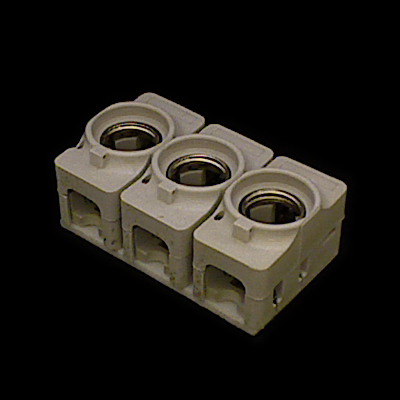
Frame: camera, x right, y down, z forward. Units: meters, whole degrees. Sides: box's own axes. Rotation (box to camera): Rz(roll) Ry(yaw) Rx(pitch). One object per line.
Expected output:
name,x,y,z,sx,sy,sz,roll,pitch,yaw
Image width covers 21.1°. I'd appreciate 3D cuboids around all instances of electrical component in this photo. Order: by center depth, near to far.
electrical component,0.000,0.000,0.635,0.149,0.063,0.088,27,48,27
